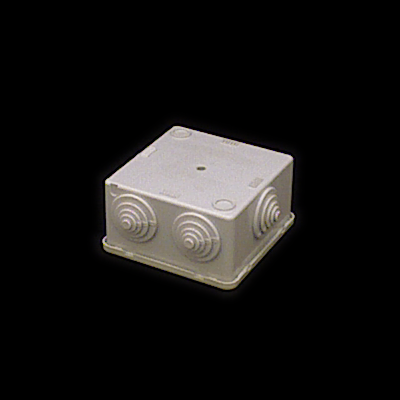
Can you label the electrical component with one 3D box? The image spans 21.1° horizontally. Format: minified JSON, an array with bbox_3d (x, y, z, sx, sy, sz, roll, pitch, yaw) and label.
[{"bbox_3d":[0.000,0.000,0.637,0.099,0.049,0.099,16,35,23],"label":"electrical component"}]
